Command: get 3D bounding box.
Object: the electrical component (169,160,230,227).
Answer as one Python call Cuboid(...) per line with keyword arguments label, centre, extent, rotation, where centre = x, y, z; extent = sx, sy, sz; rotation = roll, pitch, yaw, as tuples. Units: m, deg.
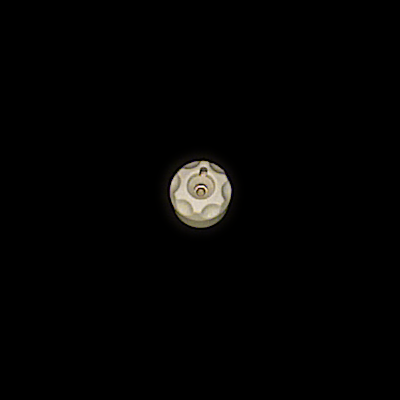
Cuboid(label="electrical component", centre=(0.000, 0.000, 0.634), extent=(0.035, 0.035, 0.061), rotation=(0, -16, 1))
